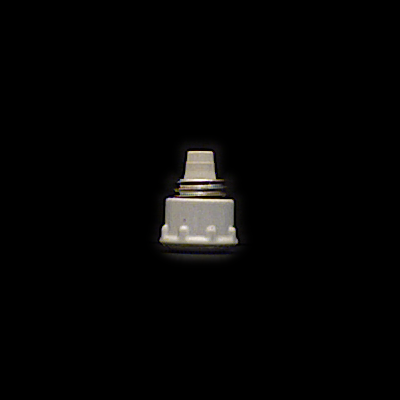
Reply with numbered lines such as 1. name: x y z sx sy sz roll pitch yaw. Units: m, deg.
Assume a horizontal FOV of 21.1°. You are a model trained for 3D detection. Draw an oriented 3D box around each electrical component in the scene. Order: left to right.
1. electrical component: 0.000 0.000 0.654 0.048 0.062 0.048 1 3 0
